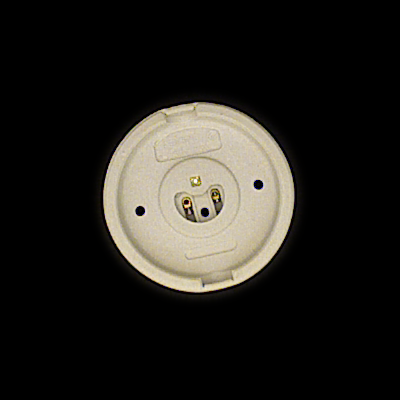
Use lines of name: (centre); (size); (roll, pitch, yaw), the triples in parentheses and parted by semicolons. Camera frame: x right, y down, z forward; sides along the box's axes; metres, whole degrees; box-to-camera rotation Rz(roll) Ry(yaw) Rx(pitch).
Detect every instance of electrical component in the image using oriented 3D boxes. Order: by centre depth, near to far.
electrical component: (0.000, 0.000, 0.635); (0.108, 0.108, 0.060); (0, -5, 0)
